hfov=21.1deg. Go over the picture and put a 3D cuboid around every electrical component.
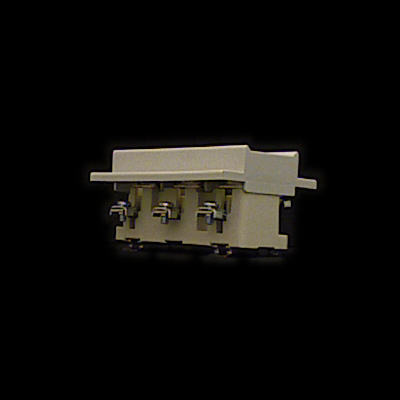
[{"bbox_3d":[0.000,0.000,0.664,0.079,0.063,0.121,2,0,-42],"label":"electrical component"}]
